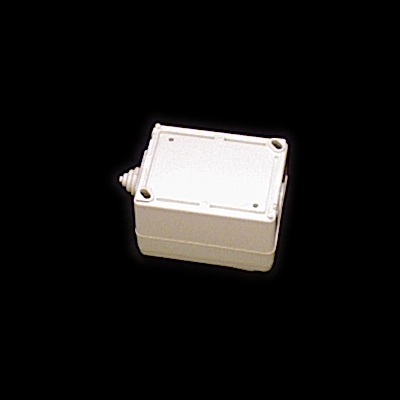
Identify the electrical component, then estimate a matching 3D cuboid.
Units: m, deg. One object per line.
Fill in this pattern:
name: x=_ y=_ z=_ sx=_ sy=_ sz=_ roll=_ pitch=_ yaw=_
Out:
electrical component: x=0.000 y=0.000 z=0.631 sx=0.096 sy=0.061 sz=0.061 roll=7 pitch=-38 yaw=6
